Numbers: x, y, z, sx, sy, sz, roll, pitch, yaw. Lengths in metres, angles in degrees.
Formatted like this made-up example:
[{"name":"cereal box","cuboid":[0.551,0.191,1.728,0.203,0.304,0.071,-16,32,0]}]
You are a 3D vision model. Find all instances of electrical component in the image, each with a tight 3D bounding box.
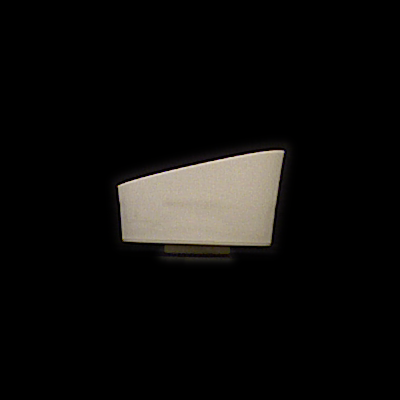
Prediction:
[{"name":"electrical component","cuboid":[0.000,0.000,0.650,0.099,0.064,0.099,2,-1,0]}]
